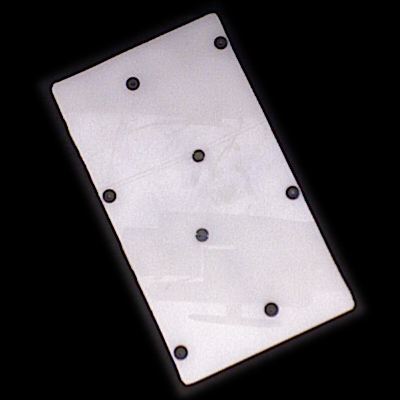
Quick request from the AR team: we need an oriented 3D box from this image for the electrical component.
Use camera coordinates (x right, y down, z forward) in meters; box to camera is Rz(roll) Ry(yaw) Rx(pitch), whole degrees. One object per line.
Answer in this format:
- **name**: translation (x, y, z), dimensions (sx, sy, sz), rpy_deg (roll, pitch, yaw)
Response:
- **electrical component**: translation (0.000, 0.000, 0.626), dimensions (0.105, 0.186, 0.060), rpy_deg (-25, -6, -2)
